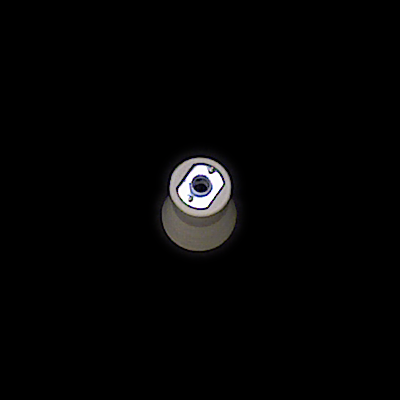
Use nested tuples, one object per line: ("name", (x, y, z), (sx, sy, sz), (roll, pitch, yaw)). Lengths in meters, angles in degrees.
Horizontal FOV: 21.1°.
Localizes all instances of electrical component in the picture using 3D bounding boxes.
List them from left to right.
("electrical component", (0.000, 0.000, 0.624), (0.044, 0.044, 0.065), (0, -16, -1))
